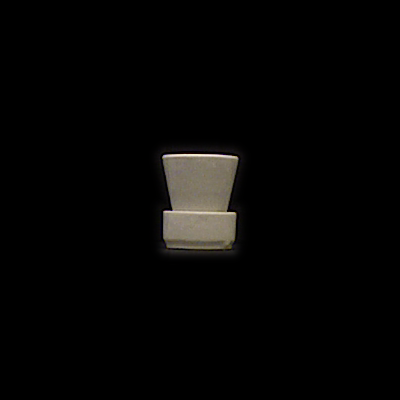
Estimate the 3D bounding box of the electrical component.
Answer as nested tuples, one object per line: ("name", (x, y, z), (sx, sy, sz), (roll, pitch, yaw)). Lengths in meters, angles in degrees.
("electrical component", (0.000, 0.000, 0.648), (0.045, 0.055, 0.044), (1, 1, 0))
